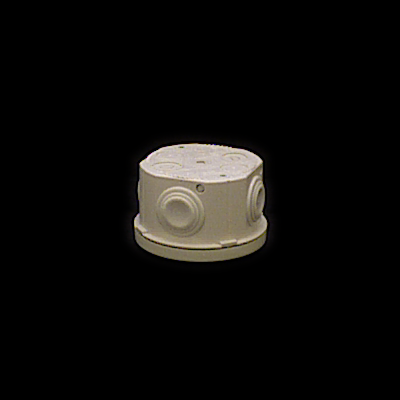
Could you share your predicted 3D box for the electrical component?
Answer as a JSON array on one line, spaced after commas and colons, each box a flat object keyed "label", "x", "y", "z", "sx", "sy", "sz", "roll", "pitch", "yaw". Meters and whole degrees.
[{"label": "electrical component", "x": 0.000, "y": 0.000, "z": 0.642, "sx": 0.080, "sy": 0.051, "sz": 0.079, "roll": 1, "pitch": 20, "yaw": 0}]
